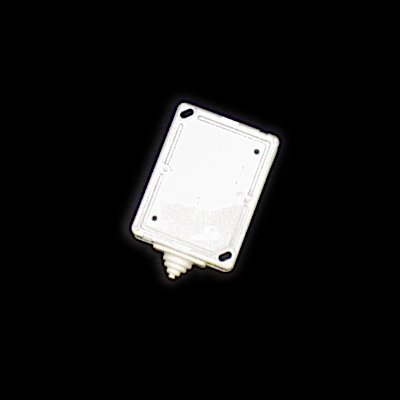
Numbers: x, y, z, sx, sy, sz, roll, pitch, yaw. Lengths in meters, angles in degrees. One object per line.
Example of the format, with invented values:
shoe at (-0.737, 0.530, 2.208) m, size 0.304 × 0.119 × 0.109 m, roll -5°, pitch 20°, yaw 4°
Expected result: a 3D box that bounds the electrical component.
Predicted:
electrical component at (0.000, 0.000, 0.625) m, size 0.062 × 0.097 × 0.060 m, roll 21°, pitch -6°, yaw 2°
